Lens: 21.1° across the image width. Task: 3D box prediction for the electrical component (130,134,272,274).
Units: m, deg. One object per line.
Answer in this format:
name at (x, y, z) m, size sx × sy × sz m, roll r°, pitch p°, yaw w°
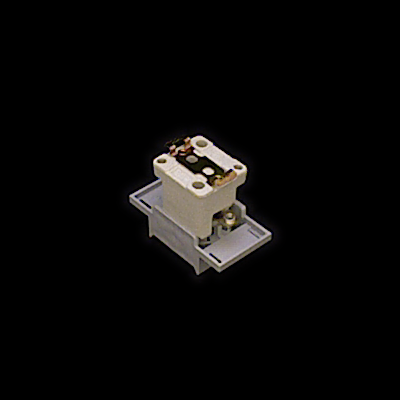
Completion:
electrical component at (0.000, 0.000, 0.630) m, size 0.042 × 0.064 × 0.080 m, roll -32°, pitch 51°, yaw -31°
